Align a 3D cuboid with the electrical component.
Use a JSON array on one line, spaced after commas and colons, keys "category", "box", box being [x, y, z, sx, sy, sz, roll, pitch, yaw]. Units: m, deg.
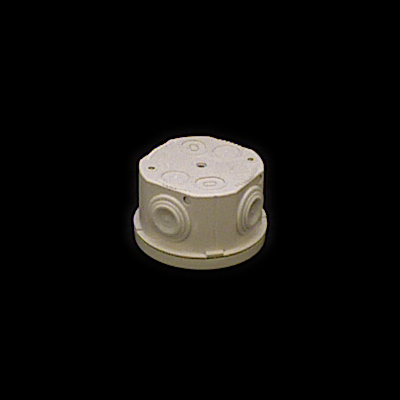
[{"category": "electrical component", "box": [0.000, 0.000, 0.638, 0.080, 0.051, 0.079, 1, 31, -1]}]
